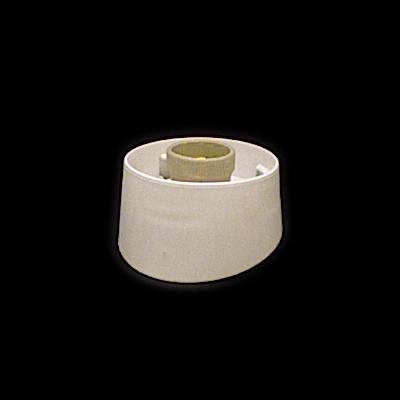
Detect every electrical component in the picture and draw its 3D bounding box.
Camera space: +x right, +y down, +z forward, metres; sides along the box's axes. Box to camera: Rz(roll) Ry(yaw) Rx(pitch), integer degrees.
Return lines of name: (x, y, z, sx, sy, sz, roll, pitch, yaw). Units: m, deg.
electrical component: (0.000, 0.000, 0.639, 0.099, 0.065, 0.097, 1, 21, 0)
